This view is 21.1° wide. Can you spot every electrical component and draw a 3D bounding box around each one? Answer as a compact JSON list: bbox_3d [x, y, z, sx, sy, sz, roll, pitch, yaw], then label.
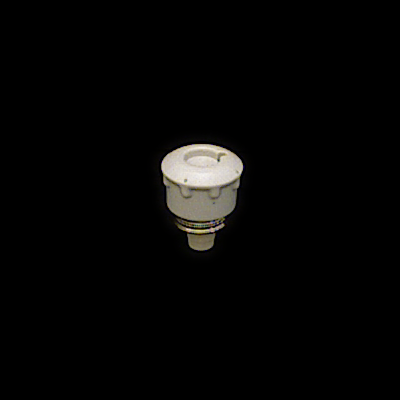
[{"bbox_3d":[0.000,0.000,0.643,0.048,0.063,0.047,1,32,0],"label":"electrical component"}]
